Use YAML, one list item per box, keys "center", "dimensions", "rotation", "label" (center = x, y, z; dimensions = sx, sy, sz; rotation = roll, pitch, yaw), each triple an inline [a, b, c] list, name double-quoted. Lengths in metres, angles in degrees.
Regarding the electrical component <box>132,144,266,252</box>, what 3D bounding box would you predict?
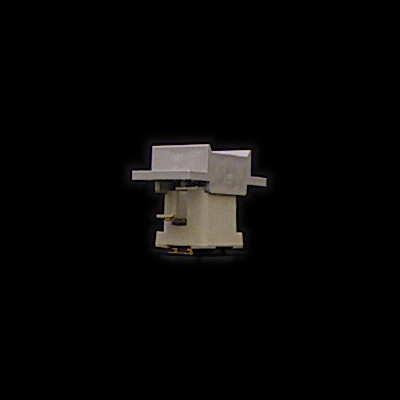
- center: [0.000, 0.000, 0.647]
  dimensions: [0.042, 0.064, 0.081]
  rotation: [3, 1, 36]
  label: "electrical component"
